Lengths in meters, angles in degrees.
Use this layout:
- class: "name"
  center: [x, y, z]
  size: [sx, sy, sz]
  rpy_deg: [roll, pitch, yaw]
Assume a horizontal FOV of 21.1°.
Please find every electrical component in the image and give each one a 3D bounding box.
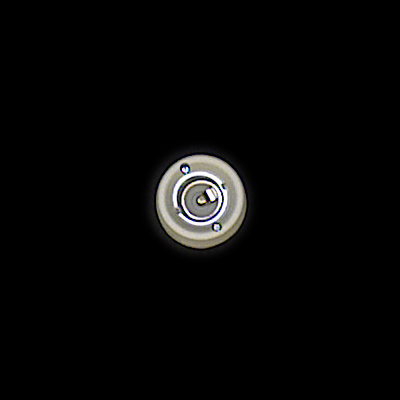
- class: "electrical component"
  center: [0.000, 0.000, 0.633]
  size: [0.055, 0.055, 0.047]
  rpy_deg: [0, -6, 0]
